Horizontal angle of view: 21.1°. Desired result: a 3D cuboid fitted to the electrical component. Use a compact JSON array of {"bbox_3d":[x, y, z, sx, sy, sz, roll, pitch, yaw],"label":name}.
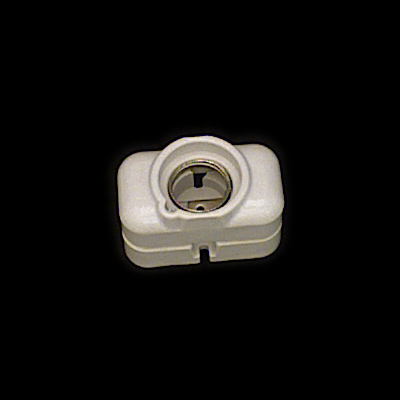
[{"bbox_3d":[0.000,0.000,0.633,0.095,0.054,0.059,-5,-27,-2],"label":"electrical component"}]
